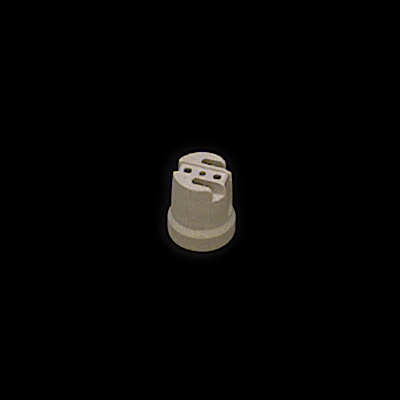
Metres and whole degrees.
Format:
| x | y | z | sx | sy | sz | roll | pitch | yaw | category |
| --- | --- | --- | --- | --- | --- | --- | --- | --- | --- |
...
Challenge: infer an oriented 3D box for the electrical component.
| x | y | z | sx | sy | sz | roll | pitch | yaw | category |
| --- | --- | --- | --- | --- | --- | --- | --- | --- | --- |
| 0.000 | 0.000 | 0.635 | 0.040 | 0.046 | 0.040 | 0 | 43 | 0 | electrical component |
